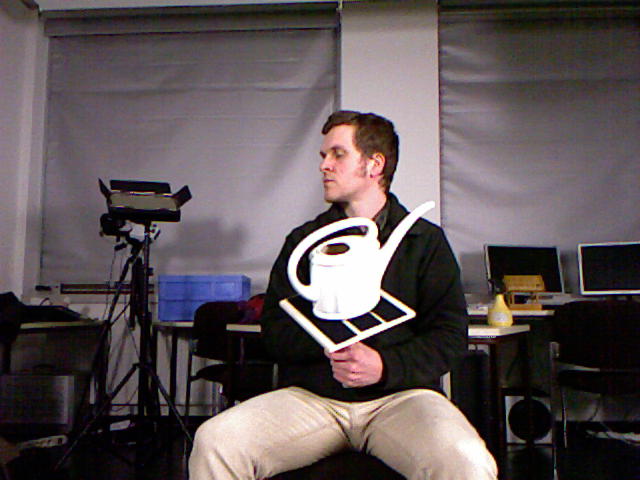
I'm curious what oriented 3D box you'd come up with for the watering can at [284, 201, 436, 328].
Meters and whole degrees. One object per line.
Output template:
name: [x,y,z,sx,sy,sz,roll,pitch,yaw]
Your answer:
watering can: [0.090,0.047,1.032,0.350,0.220,0.106,-16,32,-24]
